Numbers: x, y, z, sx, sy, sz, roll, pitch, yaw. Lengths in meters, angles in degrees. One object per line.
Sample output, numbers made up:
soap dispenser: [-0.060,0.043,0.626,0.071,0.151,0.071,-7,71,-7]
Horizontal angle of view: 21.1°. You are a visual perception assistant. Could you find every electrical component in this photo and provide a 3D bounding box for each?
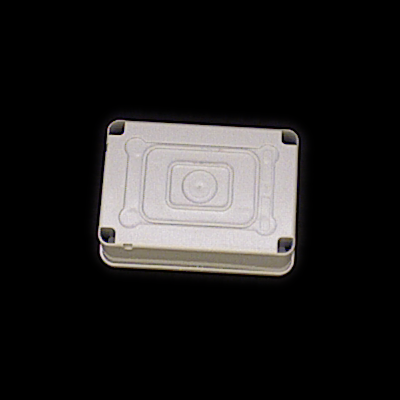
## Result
electrical component: [0.000,0.000,0.628,0.113,0.078,0.057,3,-17,0]
